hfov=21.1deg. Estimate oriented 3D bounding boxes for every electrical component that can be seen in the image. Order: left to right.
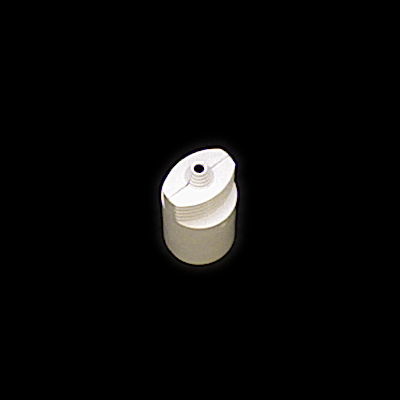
[{"bbox_3d":[0.000,0.000,0.617,0.043,0.043,0.081,0,-27,0],"label":"electrical component"}]
